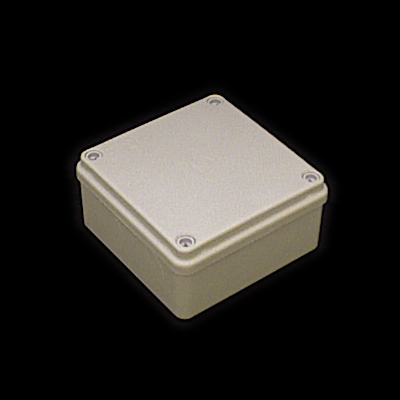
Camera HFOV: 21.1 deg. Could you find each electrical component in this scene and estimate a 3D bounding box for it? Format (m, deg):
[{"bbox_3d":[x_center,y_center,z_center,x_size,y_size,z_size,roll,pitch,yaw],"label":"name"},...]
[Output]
[{"bbox_3d":[0.000,0.000,0.632,0.108,0.056,0.108,-27,49,-27],"label":"electrical component"}]
